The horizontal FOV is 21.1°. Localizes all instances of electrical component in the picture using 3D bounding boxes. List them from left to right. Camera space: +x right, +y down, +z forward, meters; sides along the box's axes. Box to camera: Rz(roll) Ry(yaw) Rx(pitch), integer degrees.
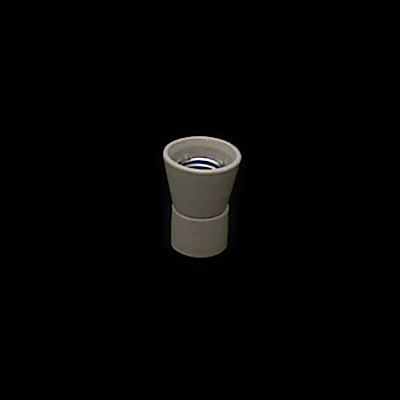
[{"bbox_3d":[0.000,0.000,0.635,0.044,0.066,0.044,1,31,-1],"label":"electrical component"}]
